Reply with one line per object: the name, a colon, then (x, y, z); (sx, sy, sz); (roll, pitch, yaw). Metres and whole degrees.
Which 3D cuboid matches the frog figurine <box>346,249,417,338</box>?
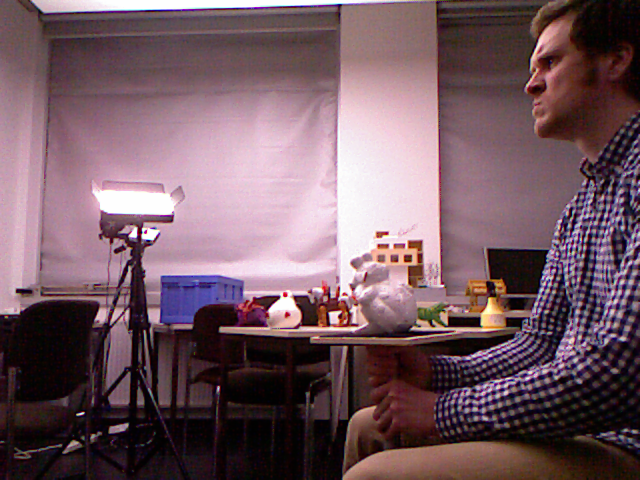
frog figurine: (0.114, 0.095, 0.939); (0.138, 0.160, 0.122); (-1, -2, -33)
